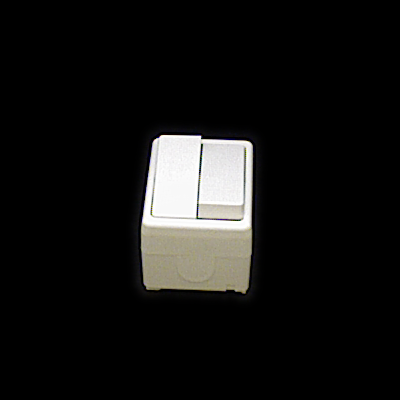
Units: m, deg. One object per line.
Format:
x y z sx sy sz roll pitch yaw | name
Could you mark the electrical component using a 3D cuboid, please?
0.000 0.000 0.633 0.062 0.061 0.095 2 42 2 | electrical component
